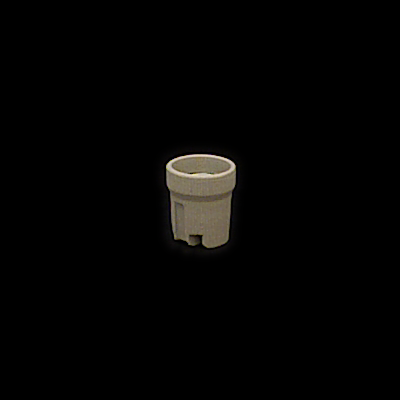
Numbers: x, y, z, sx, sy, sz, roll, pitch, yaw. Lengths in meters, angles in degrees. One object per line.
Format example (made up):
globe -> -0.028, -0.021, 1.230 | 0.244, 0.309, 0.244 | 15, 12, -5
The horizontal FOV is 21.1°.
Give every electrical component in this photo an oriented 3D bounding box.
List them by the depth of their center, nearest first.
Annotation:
electrical component -> 0.000, 0.000, 0.638 | 0.040, 0.047, 0.039 | 1, 21, 0
